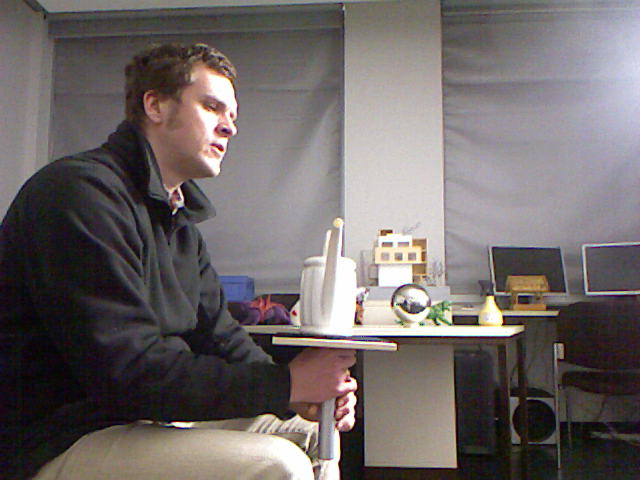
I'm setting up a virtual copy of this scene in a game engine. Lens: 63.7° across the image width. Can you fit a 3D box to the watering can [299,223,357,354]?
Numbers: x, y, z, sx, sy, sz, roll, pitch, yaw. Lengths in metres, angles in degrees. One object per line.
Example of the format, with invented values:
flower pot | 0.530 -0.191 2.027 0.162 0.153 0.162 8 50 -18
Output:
watering can | 0.015 0.085 0.900 0.104 0.226 0.345 2 -7 0
